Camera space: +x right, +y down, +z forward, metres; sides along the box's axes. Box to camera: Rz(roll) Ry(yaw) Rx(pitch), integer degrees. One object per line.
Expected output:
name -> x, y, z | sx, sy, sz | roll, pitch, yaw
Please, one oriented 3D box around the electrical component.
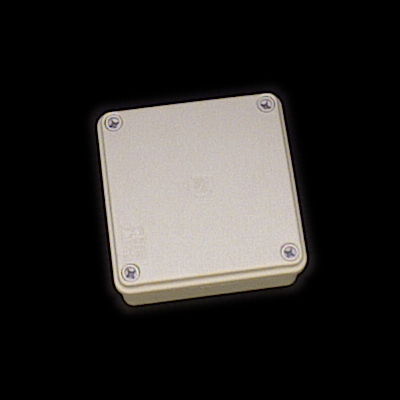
electrical component -> 0.000, 0.000, 0.630 | 0.109, 0.109, 0.056 | -7, -17, -3
